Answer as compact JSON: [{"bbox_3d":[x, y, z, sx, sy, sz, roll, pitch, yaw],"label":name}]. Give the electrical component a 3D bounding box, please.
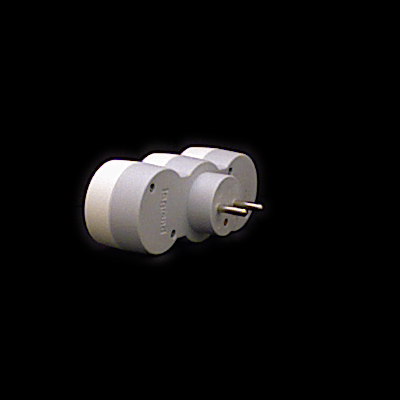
[{"bbox_3d":[0.000,0.000,0.648,0.073,0.052,0.138,10,12,30],"label":"electrical component"}]
